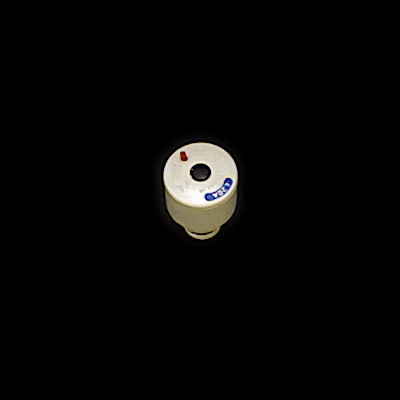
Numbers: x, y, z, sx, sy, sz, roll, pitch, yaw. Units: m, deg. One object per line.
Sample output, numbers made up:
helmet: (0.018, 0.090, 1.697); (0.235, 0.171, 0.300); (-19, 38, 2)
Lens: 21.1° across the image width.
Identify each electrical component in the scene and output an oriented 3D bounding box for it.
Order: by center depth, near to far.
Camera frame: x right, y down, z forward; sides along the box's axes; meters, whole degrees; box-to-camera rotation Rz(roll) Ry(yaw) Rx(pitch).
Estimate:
electrical component: (0.000, 0.000, 0.619); (0.040, 0.040, 0.078); (0, -28, 1)
